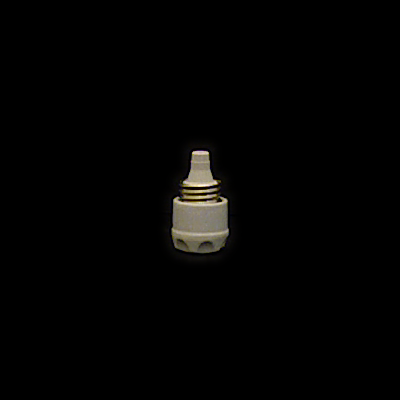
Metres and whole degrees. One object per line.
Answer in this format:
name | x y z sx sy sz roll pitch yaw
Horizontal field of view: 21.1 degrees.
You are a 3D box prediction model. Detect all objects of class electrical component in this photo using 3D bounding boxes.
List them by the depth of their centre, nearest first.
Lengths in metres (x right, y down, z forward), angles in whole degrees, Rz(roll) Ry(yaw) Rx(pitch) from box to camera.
electrical component | 0.000 0.000 0.657 0.035 0.062 0.035 0 13 0
